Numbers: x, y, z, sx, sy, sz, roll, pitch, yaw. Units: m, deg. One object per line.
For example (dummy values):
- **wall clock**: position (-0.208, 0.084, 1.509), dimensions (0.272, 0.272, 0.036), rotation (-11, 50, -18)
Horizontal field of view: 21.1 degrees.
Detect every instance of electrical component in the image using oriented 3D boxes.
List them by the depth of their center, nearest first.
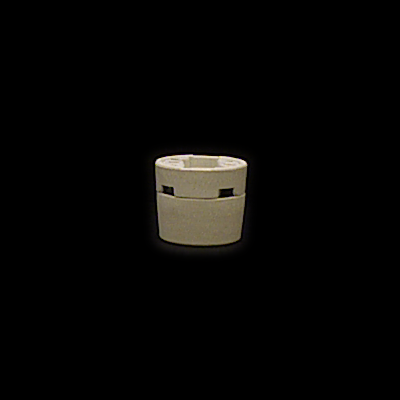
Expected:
- **electrical component**: position (0.000, 0.000, 0.645), dimensions (0.055, 0.047, 0.055), rotation (1, 11, 0)
